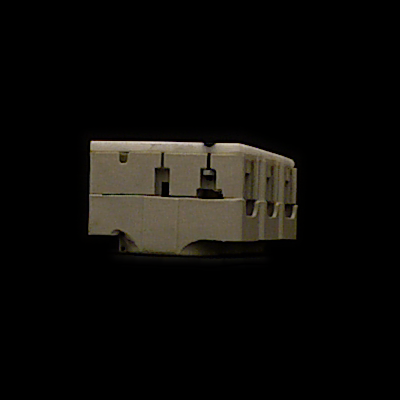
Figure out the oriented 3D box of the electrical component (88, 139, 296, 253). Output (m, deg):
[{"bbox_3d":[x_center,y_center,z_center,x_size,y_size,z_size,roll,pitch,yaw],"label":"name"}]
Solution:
[{"bbox_3d":[0.000,0.000,0.660,0.089,0.062,0.150,2,-1,17],"label":"electrical component"}]
